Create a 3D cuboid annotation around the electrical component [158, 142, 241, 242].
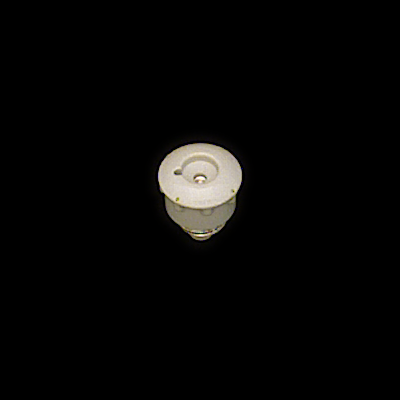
[{"bbox_3d":[0.000,0.000,0.633,0.048,0.048,0.062,0,-37,0],"label":"electrical component"}]
